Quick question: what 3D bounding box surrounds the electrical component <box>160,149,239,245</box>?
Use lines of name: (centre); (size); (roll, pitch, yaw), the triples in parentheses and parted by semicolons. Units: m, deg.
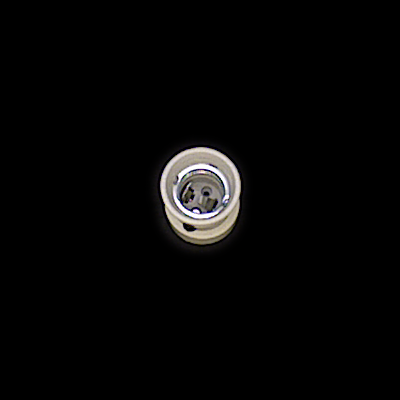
electrical component: (0.000, 0.000, 0.628); (0.045, 0.045, 0.055); (0, -17, 1)
